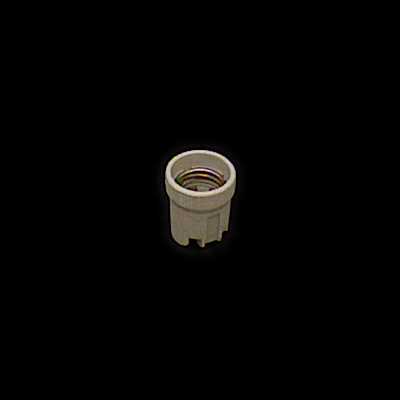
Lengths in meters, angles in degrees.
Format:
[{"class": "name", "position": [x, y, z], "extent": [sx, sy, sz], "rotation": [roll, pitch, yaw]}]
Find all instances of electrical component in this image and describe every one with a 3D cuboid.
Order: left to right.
[{"class": "electrical component", "position": [0.000, 0.000, 0.631], "extent": [0.040, 0.047, 0.039], "rotation": [1, 42, 0]}]
